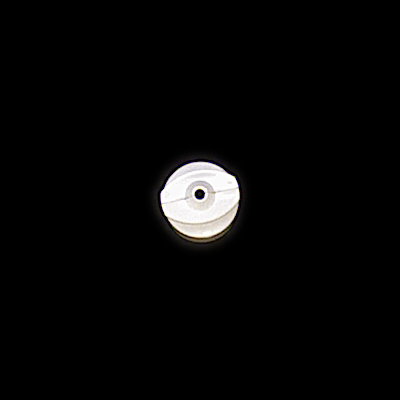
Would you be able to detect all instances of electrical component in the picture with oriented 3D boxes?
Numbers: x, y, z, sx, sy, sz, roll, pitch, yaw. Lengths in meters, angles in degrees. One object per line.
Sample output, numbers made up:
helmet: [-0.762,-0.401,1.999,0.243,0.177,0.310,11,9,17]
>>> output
electrical component: [0.000,0.000,0.616,0.043,0.043,0.080,0,-6,1]
